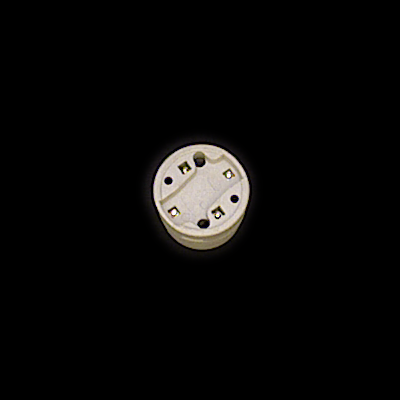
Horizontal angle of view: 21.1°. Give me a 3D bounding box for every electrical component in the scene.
[{"bbox_3d":[0.000,0.000,0.634,0.055,0.056,0.047,0,-17,0],"label":"electrical component"}]
